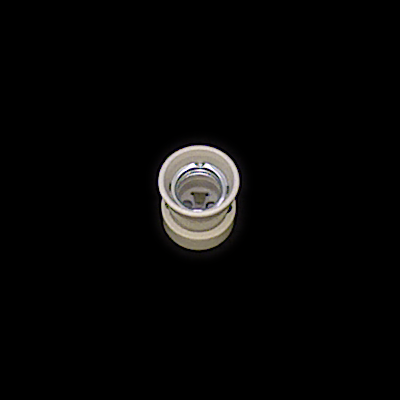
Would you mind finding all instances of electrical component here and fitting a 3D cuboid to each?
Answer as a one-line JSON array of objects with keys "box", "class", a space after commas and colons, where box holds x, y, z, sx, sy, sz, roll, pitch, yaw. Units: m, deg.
[{"box": [0.000, 0.000, 0.627, 0.045, 0.045, 0.055, 0, -26, 0], "class": "electrical component"}]
